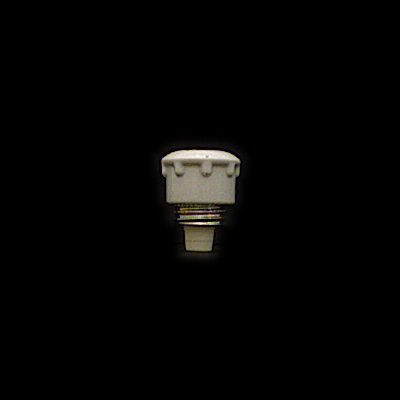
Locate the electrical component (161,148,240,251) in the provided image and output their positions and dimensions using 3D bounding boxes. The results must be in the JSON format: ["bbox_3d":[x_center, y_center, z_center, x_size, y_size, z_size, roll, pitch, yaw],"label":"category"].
[{"bbox_3d":[0.000,0.000,0.655,0.048,0.062,0.048,1,2,0],"label":"electrical component"}]
